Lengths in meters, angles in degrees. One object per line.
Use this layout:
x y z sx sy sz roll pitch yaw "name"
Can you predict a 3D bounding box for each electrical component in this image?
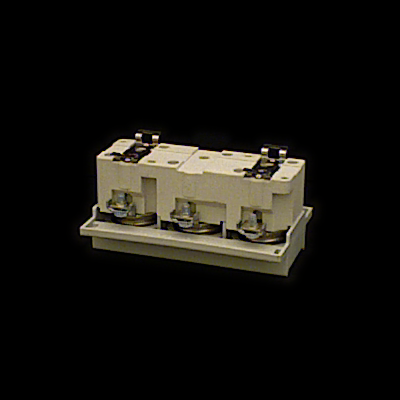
0.000 0.000 0.642 0.121 0.064 0.078 7 23 16 "electrical component"
